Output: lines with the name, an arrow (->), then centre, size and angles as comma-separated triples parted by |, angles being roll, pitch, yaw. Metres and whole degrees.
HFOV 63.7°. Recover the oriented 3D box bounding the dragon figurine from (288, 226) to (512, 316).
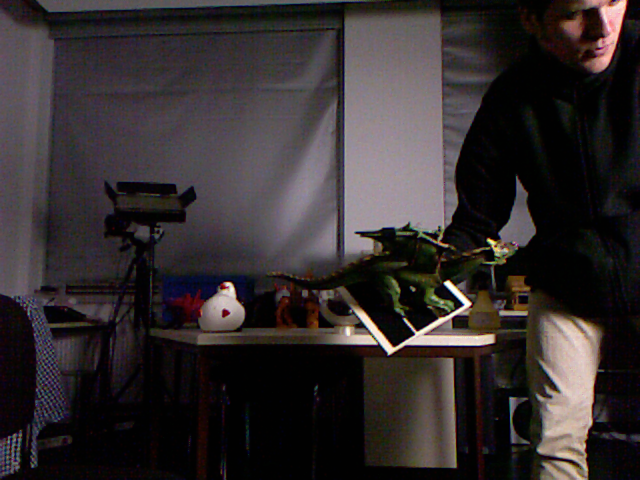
dragon figurine -> 0.139, 0.038, 0.940 | 0.411, 0.125, 0.237 | -1, -34, 0
